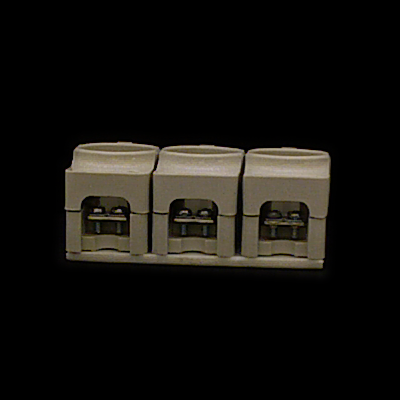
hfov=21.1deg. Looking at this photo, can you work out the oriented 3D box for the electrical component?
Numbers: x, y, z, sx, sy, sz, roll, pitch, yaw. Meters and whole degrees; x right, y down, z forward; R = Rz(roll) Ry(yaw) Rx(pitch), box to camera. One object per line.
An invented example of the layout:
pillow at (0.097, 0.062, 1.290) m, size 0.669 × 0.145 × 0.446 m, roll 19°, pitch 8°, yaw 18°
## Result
electrical component at (0.000, 0.000, 0.652) m, size 0.150 × 0.062 × 0.088 m, roll 3°, pitch 10°, yaw 5°
